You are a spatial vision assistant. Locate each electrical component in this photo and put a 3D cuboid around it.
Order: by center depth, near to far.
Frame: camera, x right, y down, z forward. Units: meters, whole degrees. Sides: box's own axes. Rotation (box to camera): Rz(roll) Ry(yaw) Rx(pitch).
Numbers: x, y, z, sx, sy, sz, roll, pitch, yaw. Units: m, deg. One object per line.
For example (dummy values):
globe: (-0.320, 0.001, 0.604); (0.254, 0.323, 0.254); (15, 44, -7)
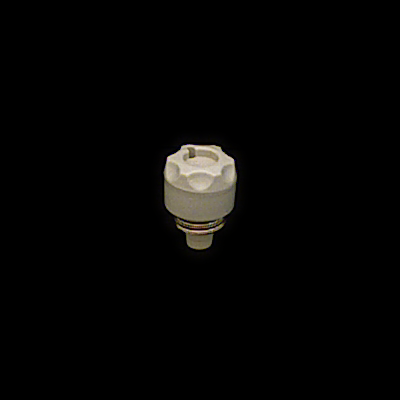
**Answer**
electrical component: (0.000, 0.000, 0.641); (0.043, 0.063, 0.043); (1, 33, 0)
